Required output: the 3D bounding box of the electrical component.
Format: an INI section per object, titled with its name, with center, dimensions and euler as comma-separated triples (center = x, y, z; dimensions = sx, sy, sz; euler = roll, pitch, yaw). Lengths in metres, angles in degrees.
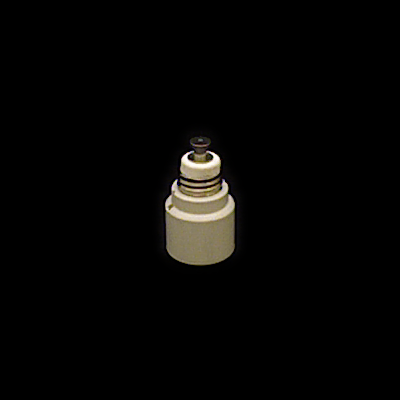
[electrical component]
center = 0.000, 0.000, 0.630
dimensions = 0.040, 0.079, 0.039
euler = 0, 32, 0
